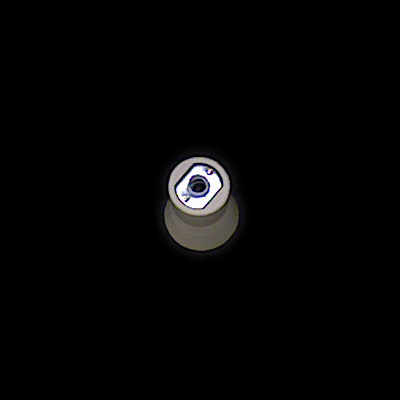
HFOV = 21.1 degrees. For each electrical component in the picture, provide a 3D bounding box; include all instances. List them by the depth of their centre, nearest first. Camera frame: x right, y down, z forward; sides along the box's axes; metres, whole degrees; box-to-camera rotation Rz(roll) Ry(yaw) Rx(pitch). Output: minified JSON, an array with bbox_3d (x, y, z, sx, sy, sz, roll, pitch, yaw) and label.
[{"bbox_3d":[0.000,0.000,0.625,0.044,0.044,0.065,0,-17,1],"label":"electrical component"}]
